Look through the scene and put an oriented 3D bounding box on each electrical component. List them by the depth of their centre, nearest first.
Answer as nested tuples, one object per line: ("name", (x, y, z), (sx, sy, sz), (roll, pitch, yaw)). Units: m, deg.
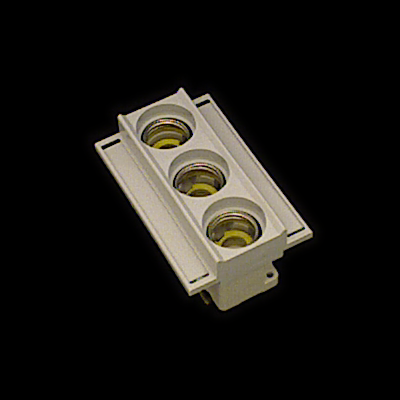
("electrical component", (0.000, 0.000, 0.638), (0.079, 0.120, 0.063), (-24, -33, -15))
